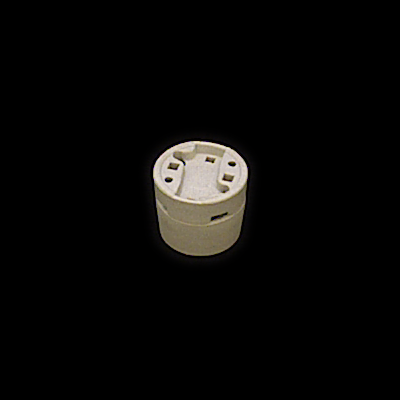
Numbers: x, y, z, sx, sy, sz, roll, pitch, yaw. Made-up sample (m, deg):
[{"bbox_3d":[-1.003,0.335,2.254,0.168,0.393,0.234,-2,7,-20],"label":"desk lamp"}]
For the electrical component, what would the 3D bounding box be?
[{"bbox_3d":[0.000,0.000,0.635,0.055,0.047,0.055,0,42,0],"label":"electrical component"}]
